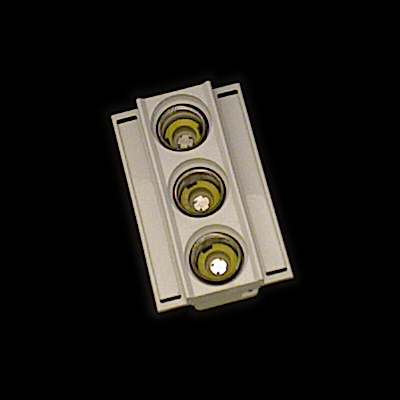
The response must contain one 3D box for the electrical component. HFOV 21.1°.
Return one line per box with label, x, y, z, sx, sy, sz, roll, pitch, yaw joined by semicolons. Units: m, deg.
electrical component;0.000;0.000;0.636;0.079;0.121;0.063;-14;-16;-2
